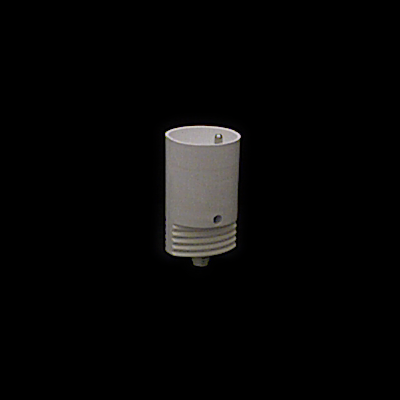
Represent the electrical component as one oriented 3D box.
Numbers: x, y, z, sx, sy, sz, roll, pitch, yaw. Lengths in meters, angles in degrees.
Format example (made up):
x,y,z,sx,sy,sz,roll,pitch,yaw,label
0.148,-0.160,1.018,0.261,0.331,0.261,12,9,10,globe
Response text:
x,y,z,sx,sy,sz,roll,pitch,yaw,label
0.000,0.000,0.637,0.043,0.082,0.042,2,21,0,electrical component
